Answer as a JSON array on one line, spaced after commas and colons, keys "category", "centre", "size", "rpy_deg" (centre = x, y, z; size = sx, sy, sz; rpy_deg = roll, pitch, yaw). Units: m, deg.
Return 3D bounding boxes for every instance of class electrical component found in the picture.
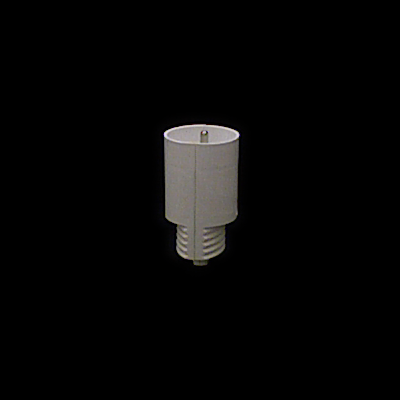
[{"category": "electrical component", "centre": [0.000, 0.000, 0.636], "size": [0.043, 0.082, 0.042], "rpy_deg": [2, 21, 0]}]
